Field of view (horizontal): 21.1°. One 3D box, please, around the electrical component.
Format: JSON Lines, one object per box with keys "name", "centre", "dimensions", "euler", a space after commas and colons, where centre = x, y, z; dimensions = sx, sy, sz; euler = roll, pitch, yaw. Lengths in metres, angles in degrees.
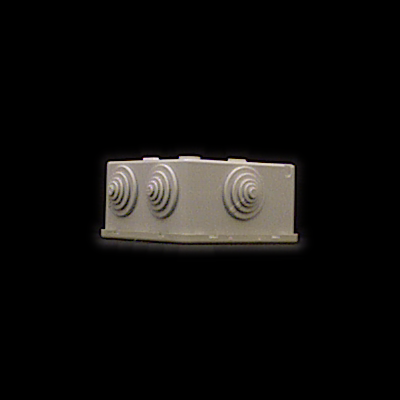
{"name": "electrical component", "centre": [0.000, 0.000, 0.649], "dimensions": [0.100, 0.048, 0.099], "euler": [1, 0, -38]}
